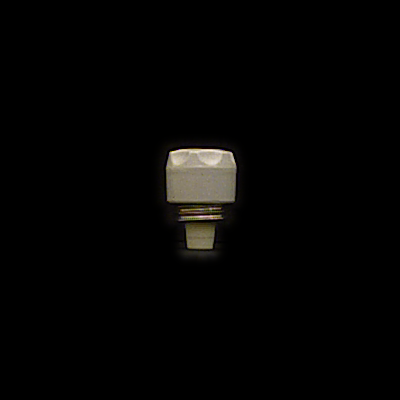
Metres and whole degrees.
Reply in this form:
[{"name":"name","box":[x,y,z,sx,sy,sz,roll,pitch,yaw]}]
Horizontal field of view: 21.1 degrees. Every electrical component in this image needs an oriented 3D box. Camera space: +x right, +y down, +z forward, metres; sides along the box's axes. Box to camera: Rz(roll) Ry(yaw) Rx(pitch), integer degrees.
[{"name":"electrical component","box":[0.000,0.000,0.656,0.043,0.062,0.043,1,2,1]}]
